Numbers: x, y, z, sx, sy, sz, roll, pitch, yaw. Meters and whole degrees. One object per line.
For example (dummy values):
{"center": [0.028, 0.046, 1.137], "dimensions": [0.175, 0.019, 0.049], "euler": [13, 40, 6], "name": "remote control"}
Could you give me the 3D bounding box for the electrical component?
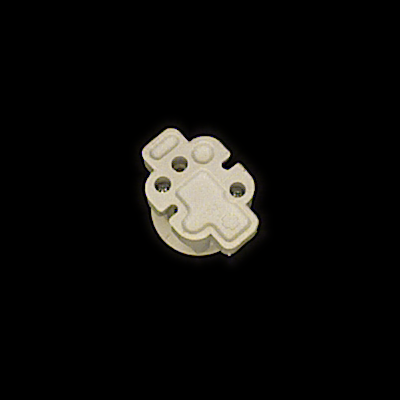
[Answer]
{"center": [0.000, 0.000, 0.635], "dimensions": [0.058, 0.078, 0.056], "euler": [-41, -11, -11], "name": "electrical component"}
